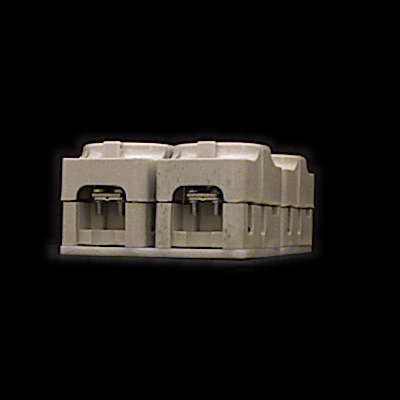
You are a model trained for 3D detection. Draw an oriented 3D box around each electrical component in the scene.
[{"bbox_3d":[0.000,0.000,0.649,0.105,0.060,0.186,1,0,17],"label":"electrical component"}]
